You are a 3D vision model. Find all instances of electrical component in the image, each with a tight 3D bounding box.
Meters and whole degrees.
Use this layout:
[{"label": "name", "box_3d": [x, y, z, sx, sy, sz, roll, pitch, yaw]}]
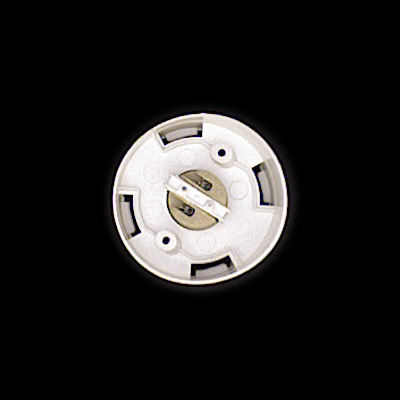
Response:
[{"label": "electrical component", "box_3d": [0.000, 0.000, 0.625, 0.099, 0.099, 0.064, 0, -7, -1]}]
